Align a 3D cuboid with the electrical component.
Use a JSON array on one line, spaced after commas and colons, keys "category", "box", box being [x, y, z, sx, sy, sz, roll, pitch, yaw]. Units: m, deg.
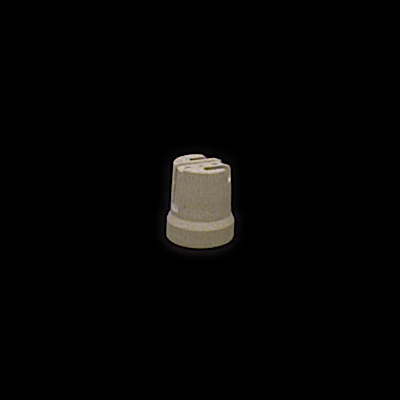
[{"category": "electrical component", "box": [0.000, 0.000, 0.641, 0.040, 0.046, 0.040, 1, 22, 0]}]
